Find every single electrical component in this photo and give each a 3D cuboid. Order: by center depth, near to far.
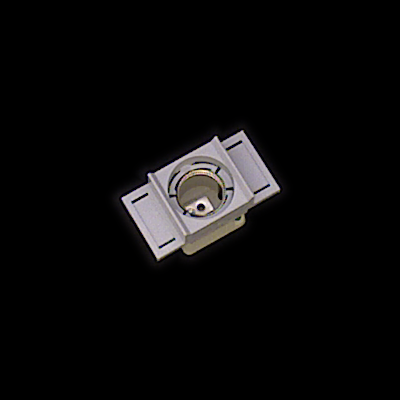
[{"bbox_3d":[0.000,0.000,0.623,0.081,0.042,0.063,-29,-14,-9],"label":"electrical component"}]
